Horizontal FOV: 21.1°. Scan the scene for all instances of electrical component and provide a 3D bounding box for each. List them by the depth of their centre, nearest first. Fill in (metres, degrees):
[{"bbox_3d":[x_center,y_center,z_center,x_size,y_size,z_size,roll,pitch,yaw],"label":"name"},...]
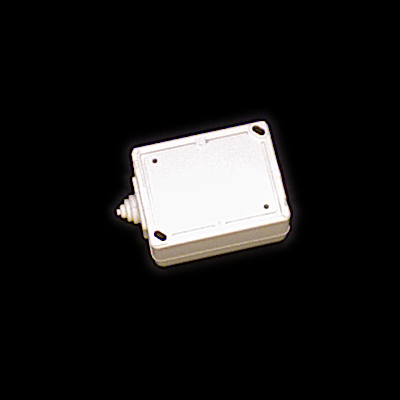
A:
[{"bbox_3d":[0.000,0.000,0.629,0.096,0.062,0.060,-12,-17,-3],"label":"electrical component"}]
